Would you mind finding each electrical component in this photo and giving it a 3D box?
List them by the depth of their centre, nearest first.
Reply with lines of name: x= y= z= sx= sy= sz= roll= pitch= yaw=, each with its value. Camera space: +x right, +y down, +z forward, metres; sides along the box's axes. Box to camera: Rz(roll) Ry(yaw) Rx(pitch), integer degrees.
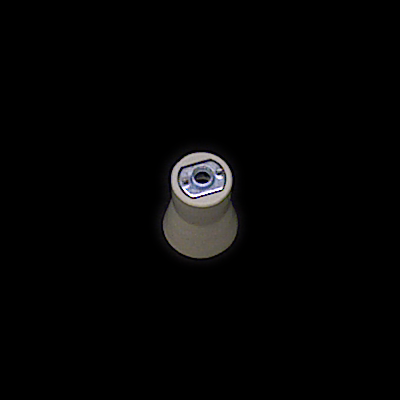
electrical component: x=0.000 y=0.000 z=0.624 sx=0.044 sy=0.044 sz=0.065 roll=0 pitch=-26 yaw=-1
